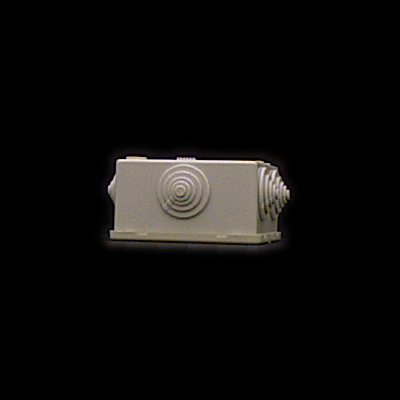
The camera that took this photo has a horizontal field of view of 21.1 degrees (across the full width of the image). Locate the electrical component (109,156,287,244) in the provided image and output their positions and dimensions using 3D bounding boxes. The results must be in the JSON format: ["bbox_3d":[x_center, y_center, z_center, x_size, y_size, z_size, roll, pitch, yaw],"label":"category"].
[{"bbox_3d":[0.000,0.000,0.651,0.099,0.048,0.100,2,0,13],"label":"electrical component"}]
